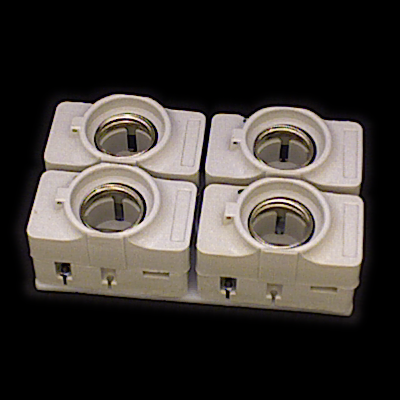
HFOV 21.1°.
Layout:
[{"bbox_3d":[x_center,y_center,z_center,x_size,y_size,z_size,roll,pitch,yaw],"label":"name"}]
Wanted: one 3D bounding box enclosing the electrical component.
[{"bbox_3d":[0.000,0.000,0.627,0.186,0.105,0.060,5,-37,3],"label":"electrical component"}]
